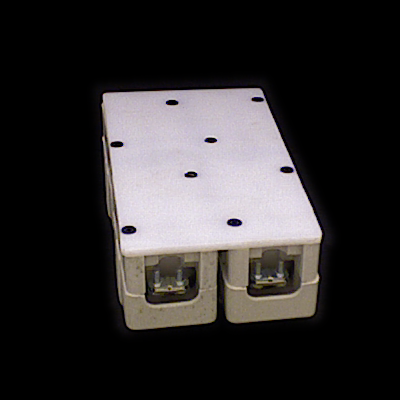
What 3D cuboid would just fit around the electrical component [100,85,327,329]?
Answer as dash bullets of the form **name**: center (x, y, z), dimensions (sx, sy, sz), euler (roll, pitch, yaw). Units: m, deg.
- **electrical component**: center (0.000, 0.000, 0.633), dimensions (0.105, 0.061, 0.183), euler (-3, 31, -7)
